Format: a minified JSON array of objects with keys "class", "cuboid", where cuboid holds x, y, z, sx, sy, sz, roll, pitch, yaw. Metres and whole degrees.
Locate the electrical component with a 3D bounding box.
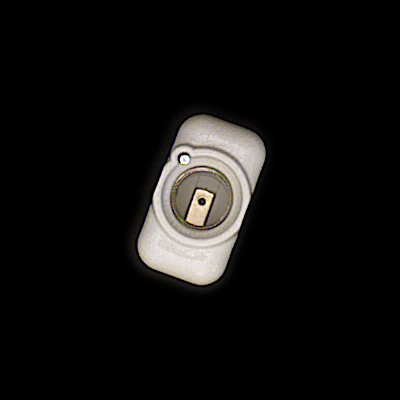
[{"class":"electrical component","cuboid":[0.000,0.000,0.635,0.054,0.095,0.059,19,-5,2]}]
